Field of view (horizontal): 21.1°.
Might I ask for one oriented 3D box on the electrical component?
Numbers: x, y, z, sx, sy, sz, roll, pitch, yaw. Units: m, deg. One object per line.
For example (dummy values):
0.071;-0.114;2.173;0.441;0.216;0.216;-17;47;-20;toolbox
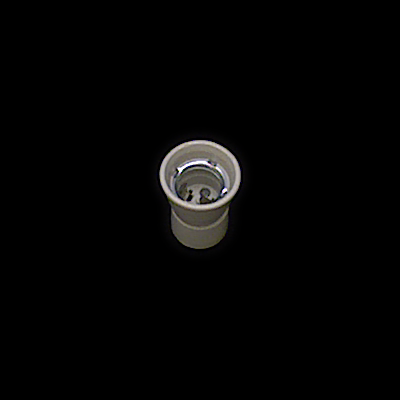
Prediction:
0.000;0.000;0.626;0.044;0.044;0.065;0;-28;0;electrical component
